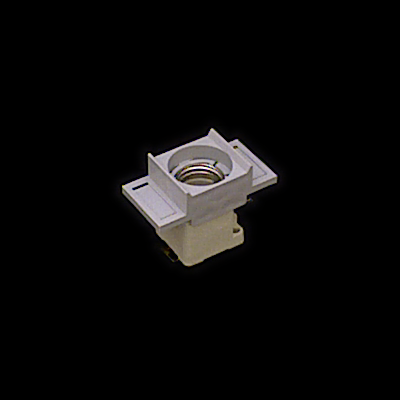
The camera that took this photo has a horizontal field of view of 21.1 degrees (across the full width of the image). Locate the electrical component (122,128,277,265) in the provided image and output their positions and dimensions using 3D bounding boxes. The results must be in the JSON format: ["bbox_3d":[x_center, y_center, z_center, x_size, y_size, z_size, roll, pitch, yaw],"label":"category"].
[{"bbox_3d":[0.000,0.000,0.630,0.081,0.064,0.042,-23,46,-24],"label":"electrical component"}]
